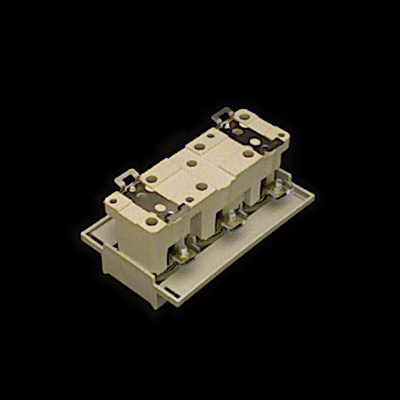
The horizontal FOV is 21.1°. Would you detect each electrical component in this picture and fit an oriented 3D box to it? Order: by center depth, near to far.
[{"bbox_3d":[0.000,0.000,0.637,0.078,0.063,0.121,32,51,29],"label":"electrical component"}]
